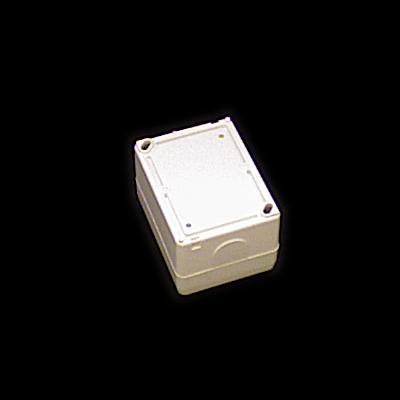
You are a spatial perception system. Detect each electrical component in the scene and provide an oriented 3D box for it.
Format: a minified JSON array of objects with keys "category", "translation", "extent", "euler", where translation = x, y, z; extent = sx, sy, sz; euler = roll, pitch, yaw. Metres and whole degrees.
[{"category":"electrical component","translation":[0.000,0.000,0.630],"extent":[0.062,0.096,0.061],"euler":[-16,-37,-12]}]
